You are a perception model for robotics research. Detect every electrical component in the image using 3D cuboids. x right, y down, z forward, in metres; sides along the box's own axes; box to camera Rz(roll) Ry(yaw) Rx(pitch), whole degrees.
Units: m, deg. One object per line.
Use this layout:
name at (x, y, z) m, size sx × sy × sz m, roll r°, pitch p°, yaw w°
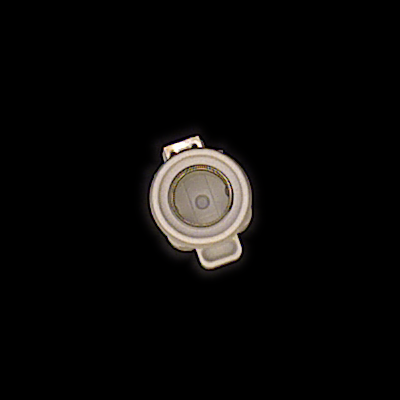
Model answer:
electrical component at (0.000, 0.000, 0.630) m, size 0.058 × 0.078 × 0.056 m, roll -20°, pitch -6°, yaw -2°
